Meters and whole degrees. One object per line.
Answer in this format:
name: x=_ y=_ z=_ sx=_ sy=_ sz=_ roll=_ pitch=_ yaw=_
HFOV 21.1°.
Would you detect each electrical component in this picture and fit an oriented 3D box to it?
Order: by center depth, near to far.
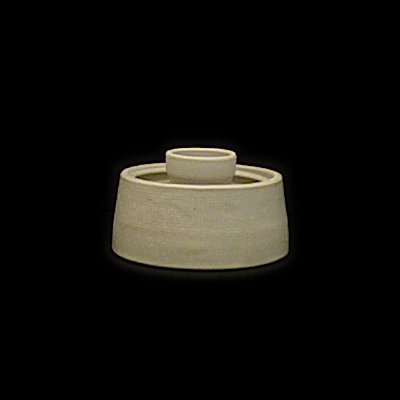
electrical component: x=0.000 y=0.000 z=0.651 sx=0.108 sy=0.061 sz=0.107 roll=1 pitch=11 yaw=0
